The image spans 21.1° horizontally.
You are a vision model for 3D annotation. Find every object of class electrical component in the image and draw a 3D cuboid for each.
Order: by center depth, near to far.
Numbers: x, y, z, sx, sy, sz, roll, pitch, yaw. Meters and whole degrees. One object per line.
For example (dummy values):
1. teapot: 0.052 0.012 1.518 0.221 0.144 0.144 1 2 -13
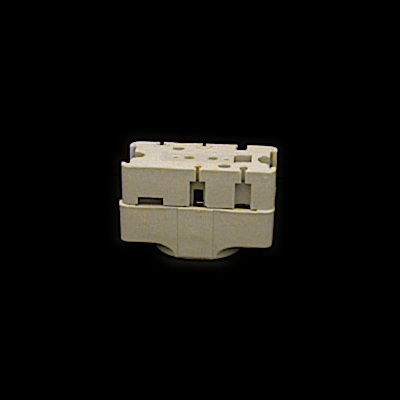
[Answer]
1. electrical component: 0.000 0.000 0.647 0.089 0.056 0.049 3 21 3
